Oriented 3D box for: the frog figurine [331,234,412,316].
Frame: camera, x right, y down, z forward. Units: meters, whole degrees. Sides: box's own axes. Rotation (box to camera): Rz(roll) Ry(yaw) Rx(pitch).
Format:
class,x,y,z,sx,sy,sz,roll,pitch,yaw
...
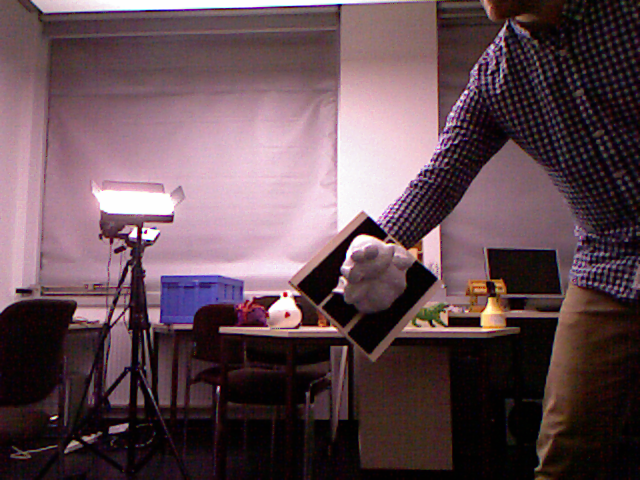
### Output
class,x,y,z,sx,sy,sz,roll,pitch,yaw
frog figurine,0.092,0.052,0.842,0.138,0.124,0.157,-25,-14,-19
